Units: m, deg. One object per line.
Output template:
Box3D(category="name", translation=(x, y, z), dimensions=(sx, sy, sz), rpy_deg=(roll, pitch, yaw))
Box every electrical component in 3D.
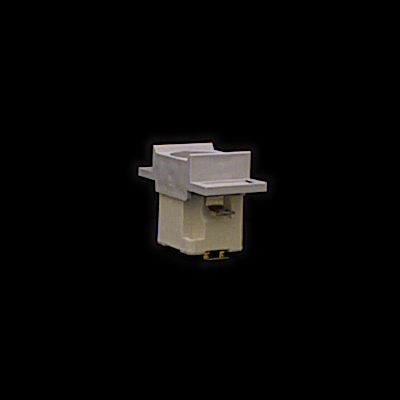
Box3D(category="electrical component", translation=(0.000, 0.000, 0.645), dimensions=(0.042, 0.064, 0.080), rpy_deg=(-7, 13, -30))
